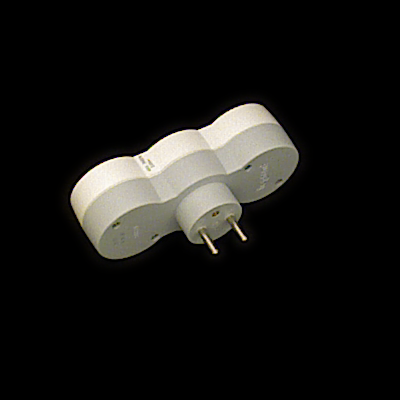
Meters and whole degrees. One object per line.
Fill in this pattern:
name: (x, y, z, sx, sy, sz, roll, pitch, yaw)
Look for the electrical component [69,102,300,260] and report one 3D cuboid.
electrical component: (0.000, 0.000, 0.637, 0.139, 0.073, 0.052, -24, -32, -17)
